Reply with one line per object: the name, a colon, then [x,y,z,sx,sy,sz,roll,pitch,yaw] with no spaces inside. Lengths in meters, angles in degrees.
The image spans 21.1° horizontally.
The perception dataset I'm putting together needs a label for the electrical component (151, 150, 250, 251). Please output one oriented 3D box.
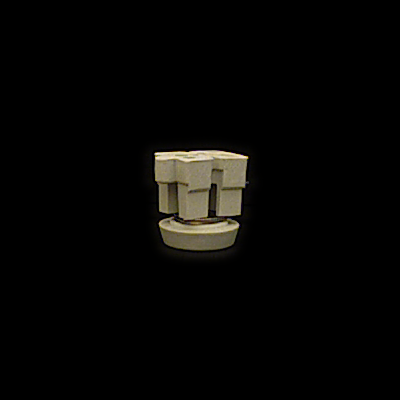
electrical component: [0.000,0.000,0.650,0.067,0.056,0.048,-6,12,-34]
